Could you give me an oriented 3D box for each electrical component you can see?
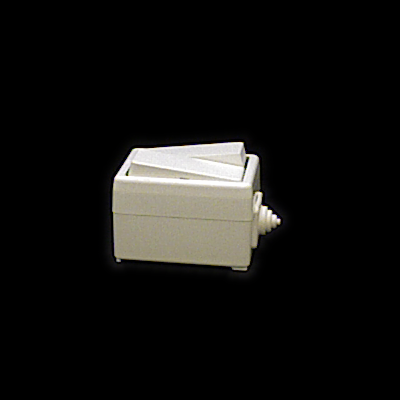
[{"bbox_3d":[0.000,0.000,0.639,0.096,0.061,0.061,3,21,7],"label":"electrical component"}]
